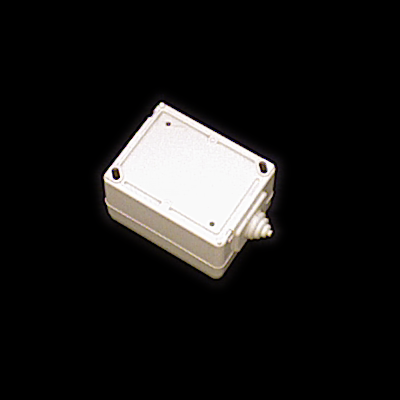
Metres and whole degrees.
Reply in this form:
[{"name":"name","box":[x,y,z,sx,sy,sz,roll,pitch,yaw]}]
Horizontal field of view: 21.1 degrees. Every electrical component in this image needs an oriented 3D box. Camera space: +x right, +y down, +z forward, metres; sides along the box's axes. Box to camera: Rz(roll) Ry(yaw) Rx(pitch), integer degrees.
[{"name":"electrical component","box":[0.000,0.000,0.626,0.096,0.062,0.060,30,-23,13]}]
